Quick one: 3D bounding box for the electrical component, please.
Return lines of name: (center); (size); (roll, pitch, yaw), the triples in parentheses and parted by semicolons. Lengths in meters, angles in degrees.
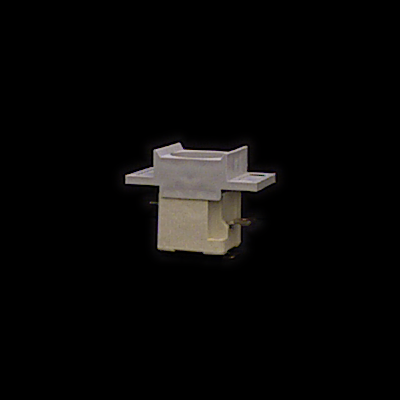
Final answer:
electrical component: (0.000, 0.000, 0.643); (0.081, 0.064, 0.042); (4, 11, 19)
